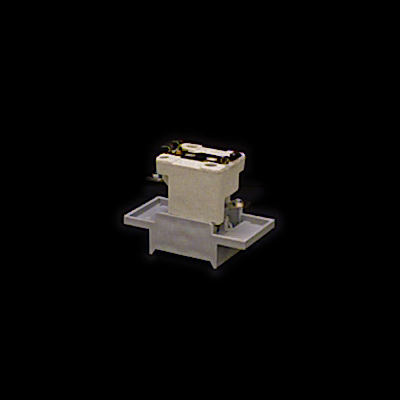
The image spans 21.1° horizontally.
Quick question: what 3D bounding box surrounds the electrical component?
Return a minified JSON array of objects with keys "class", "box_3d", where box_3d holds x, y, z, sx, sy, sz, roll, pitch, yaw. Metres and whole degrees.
[{"class":"electrical component","box_3d":[0.000,0.000,0.639,0.080,0.064,0.042,11,23,25]}]
